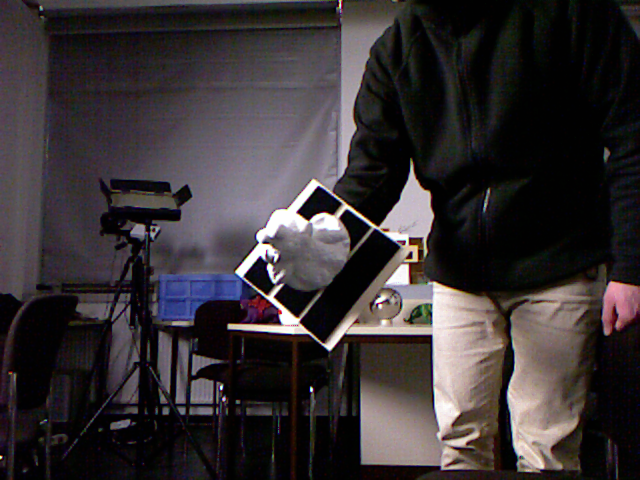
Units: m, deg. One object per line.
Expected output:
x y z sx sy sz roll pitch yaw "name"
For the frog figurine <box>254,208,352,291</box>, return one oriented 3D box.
-0.022 0.008 0.758 0.137 0.124 0.158 -31 -13 4 "frog figurine"
